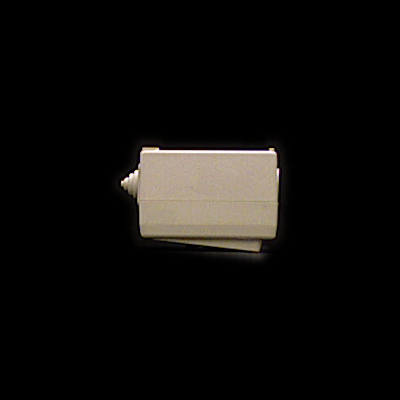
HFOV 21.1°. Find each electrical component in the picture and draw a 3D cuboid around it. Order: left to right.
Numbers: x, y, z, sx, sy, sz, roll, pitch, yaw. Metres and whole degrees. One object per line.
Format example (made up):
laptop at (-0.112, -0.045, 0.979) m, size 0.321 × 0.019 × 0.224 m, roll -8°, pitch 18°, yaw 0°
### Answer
electrical component at (0.000, 0.000, 0.653) m, size 0.096 × 0.061 × 0.061 m, roll 1°, pitch 1°, yaw 4°
